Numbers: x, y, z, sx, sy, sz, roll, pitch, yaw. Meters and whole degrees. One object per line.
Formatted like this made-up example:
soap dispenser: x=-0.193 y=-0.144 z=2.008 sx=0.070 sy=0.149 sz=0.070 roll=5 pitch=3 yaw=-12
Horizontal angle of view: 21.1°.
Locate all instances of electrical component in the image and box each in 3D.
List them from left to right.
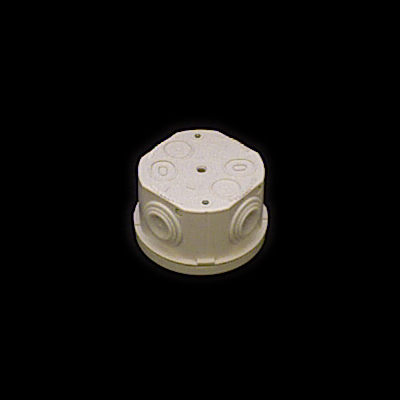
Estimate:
electrical component: x=0.000 y=0.000 z=0.633 sx=0.080 sy=0.051 sz=0.080 roll=1 pitch=43 yaw=0
